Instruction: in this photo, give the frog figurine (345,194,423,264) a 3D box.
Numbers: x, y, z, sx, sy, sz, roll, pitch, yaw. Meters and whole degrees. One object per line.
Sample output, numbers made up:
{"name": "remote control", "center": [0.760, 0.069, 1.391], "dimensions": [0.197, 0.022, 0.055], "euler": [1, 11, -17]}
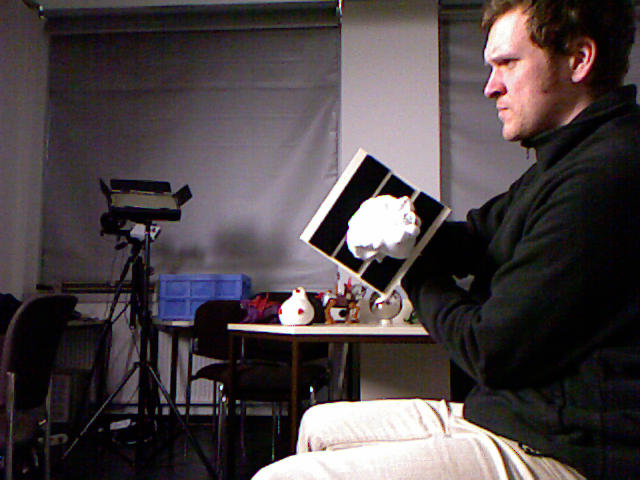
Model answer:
{"name": "frog figurine", "center": [0.107, -0.017, 0.891], "dimensions": [0.138, 0.123, 0.160], "euler": [-35, 0, 3]}
